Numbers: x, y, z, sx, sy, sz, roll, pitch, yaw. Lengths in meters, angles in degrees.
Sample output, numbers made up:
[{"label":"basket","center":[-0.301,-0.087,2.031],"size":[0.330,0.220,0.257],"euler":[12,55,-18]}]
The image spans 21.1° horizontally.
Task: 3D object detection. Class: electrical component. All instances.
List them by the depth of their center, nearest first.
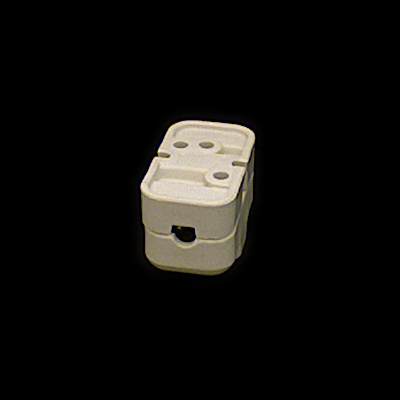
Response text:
[{"label":"electrical component","center":[0.000,0.000,0.640],"size":[0.053,0.060,0.094],"euler":[7,33,9]}]
